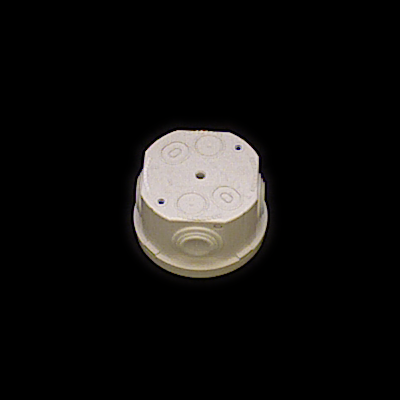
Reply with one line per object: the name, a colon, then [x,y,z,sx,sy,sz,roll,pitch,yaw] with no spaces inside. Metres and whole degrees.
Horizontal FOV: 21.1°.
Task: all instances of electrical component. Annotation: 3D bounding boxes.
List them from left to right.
electrical component: [0.000,0.000,0.631,0.080,0.080,0.051,0,-37,0]
